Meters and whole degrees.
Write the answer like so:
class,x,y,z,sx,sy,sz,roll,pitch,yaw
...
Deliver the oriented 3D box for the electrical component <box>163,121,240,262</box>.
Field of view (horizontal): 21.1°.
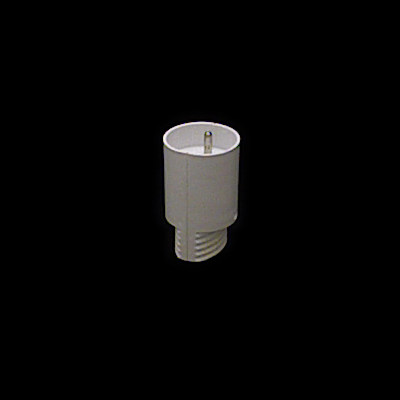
class,x,y,z,sx,sy,sz,roll,pitch,yaw
electrical component,0.000,0.000,0.630,0.043,0.082,0.042,1,31,-1
